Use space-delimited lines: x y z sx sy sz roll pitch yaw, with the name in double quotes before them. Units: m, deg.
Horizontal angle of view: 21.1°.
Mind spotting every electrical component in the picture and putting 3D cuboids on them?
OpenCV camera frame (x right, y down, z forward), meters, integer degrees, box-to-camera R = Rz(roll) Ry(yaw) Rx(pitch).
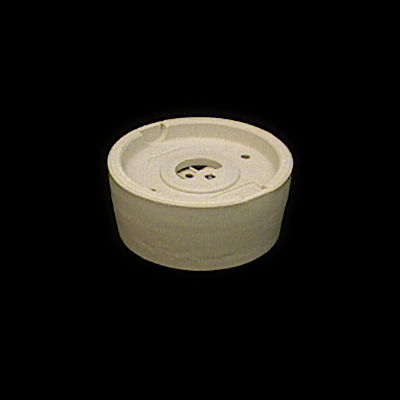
"electrical component" 0.000 0.000 0.641 0.108 0.061 0.106 1 32 0
